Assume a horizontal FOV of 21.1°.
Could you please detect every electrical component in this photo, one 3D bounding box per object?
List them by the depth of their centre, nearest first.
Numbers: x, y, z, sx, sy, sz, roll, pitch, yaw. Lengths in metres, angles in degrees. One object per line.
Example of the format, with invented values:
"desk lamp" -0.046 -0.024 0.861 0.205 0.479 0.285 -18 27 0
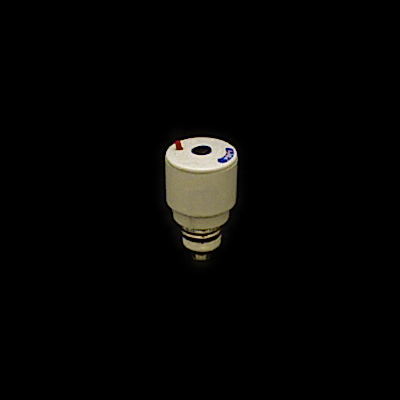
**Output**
"electrical component" 0.000 0.000 0.630 0.040 0.079 0.039 0 31 0
